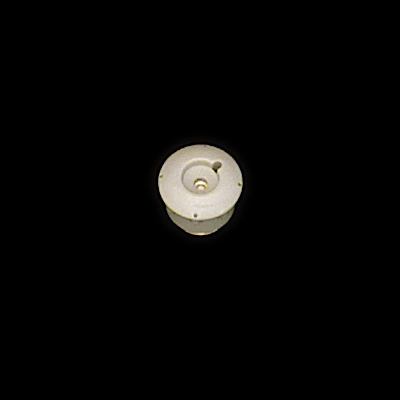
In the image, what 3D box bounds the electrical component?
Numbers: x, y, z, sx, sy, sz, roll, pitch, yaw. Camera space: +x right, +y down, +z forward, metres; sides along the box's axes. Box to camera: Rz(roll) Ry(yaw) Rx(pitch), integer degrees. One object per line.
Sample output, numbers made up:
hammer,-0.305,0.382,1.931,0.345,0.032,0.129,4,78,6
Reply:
electrical component,0.000,0.000,0.634,0.048,0.048,0.062,0,-27,0
